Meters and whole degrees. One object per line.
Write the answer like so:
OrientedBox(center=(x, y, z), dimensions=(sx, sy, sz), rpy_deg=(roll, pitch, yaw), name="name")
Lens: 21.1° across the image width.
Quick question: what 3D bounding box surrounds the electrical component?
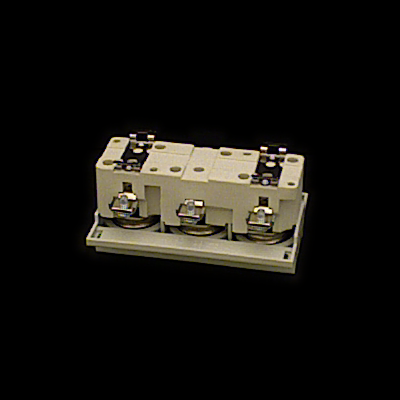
OrientedBox(center=(0.000, 0.000, 0.644), dimensions=(0.121, 0.064, 0.078), rpy_deg=(6, 32, 8), name="electrical component")
